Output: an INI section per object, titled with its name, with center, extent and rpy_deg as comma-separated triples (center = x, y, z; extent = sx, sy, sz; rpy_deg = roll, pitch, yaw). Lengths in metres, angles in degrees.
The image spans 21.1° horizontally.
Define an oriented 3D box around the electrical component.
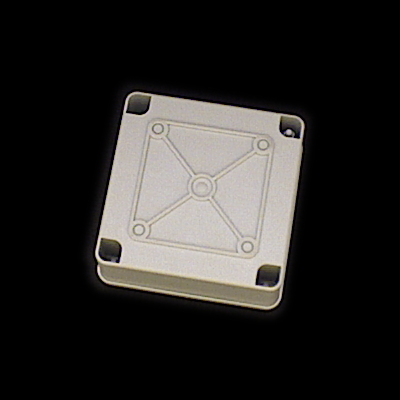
[electrical component]
center = 0.000, 0.000, 0.629
extent = 0.109, 0.109, 0.056
rpy_deg = 9, -17, 2
